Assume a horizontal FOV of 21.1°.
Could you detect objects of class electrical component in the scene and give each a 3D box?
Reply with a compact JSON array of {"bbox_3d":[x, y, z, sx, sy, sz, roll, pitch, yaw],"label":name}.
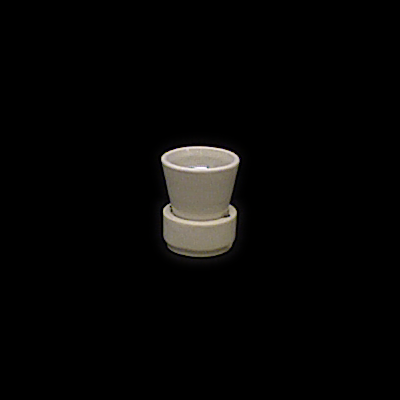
[{"bbox_3d":[0.000,0.000,0.638,0.045,0.056,0.044,0,22,0],"label":"electrical component"}]
